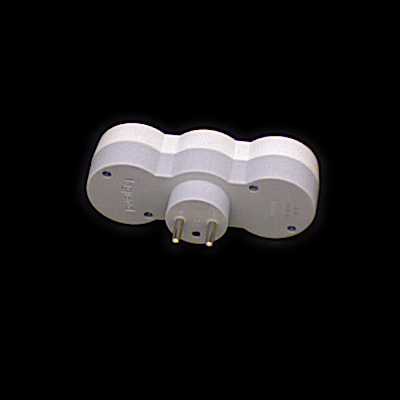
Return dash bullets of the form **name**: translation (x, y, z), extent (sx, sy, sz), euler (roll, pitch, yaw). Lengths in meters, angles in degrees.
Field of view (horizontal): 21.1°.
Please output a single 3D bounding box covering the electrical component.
- **electrical component**: translation (0.000, 0.000, 0.634), extent (0.138, 0.052, 0.073), euler (6, 44, 4)
